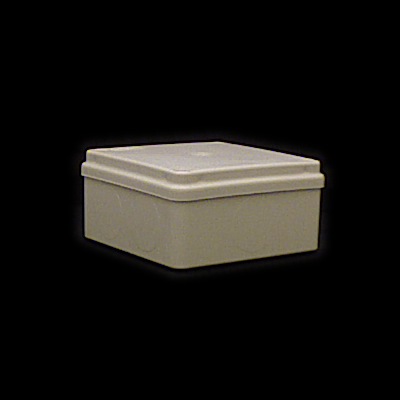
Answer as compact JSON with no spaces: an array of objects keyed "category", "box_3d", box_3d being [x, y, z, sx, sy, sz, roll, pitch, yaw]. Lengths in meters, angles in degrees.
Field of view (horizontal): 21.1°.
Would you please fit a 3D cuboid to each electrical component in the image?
[{"category":"electrical component","box_3d":[0.000,0.000,0.644,0.108,0.056,0.108,-6,13,-35]}]
